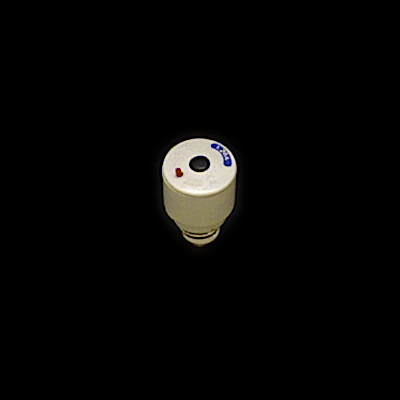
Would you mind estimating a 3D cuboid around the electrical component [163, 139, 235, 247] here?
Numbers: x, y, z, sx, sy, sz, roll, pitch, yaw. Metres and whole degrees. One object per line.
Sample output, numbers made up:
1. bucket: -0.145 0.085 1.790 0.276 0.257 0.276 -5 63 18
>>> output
1. electrical component: 0.000 0.000 0.620 0.040 0.040 0.078 0 -37 0
